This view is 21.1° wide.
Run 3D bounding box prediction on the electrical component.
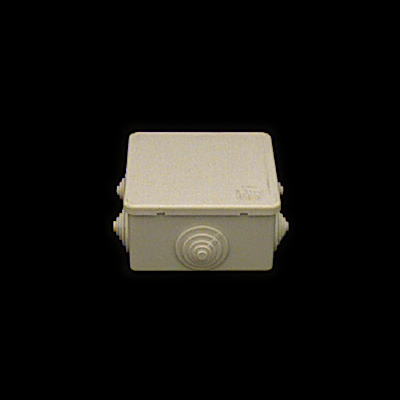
[{"bbox_3d":[0.000,0.000,0.644,0.100,0.049,0.098,0,32,-1],"label":"electrical component"}]
